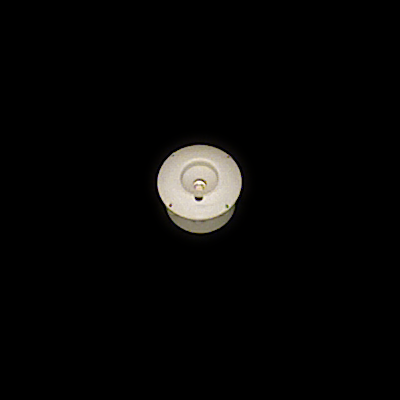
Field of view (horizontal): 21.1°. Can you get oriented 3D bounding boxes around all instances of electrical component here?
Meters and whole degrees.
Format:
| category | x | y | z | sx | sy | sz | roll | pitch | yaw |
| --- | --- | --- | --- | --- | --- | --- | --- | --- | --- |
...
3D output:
| category | x | y | z | sx | sy | sz | roll | pitch | yaw |
| --- | --- | --- | --- | --- | --- | --- | --- | --- | --- |
| electrical component | 0.000 | 0.000 | 0.633 | 0.048 | 0.048 | 0.062 | 0 | -26 | 0 |
